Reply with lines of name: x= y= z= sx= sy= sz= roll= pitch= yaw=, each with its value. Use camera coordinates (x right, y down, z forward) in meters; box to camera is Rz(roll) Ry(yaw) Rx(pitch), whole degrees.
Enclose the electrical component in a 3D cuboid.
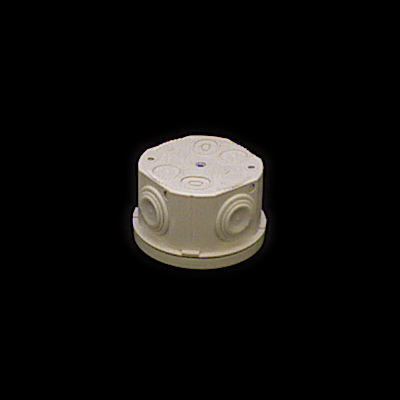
electrical component: x=0.000 y=0.000 z=0.637 sx=0.080 sy=0.051 sz=0.079 roll=1 pitch=31 yaw=-1
